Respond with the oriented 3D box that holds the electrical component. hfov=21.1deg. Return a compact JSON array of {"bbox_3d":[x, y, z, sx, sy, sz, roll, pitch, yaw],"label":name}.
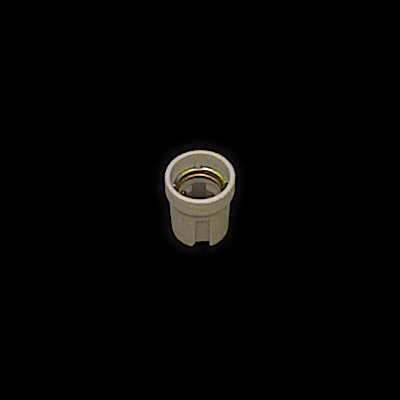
[{"bbox_3d":[0.000,0.000,0.632,0.040,0.039,0.047,0,-38,-1],"label":"electrical component"}]
